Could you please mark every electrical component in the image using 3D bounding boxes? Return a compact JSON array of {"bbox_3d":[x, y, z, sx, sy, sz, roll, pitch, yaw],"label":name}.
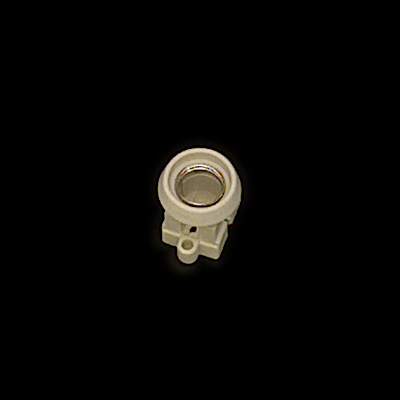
[{"bbox_3d":[0.000,0.000,0.637,0.048,0.067,0.055,17,-25,7],"label":"electrical component"}]
